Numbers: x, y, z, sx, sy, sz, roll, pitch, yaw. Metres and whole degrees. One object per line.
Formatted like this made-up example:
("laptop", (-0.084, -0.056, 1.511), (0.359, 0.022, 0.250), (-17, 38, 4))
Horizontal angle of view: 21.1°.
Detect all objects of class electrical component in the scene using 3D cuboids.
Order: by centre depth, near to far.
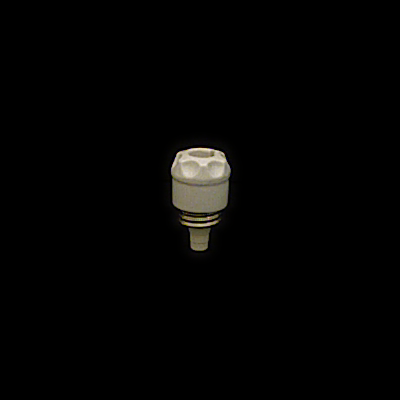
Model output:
("electrical component", (0.000, 0.000, 0.646), (0.035, 0.062, 0.034), (1, 22, 0))
